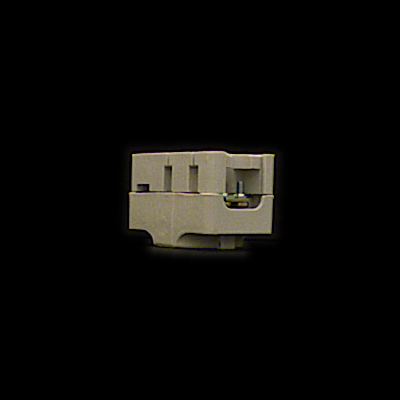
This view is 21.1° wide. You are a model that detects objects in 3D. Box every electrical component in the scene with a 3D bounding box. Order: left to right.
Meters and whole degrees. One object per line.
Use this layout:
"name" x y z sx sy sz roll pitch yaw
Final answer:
"electrical component" 0.000 0.000 0.657 0.050 0.056 0.089 1 2 -36
